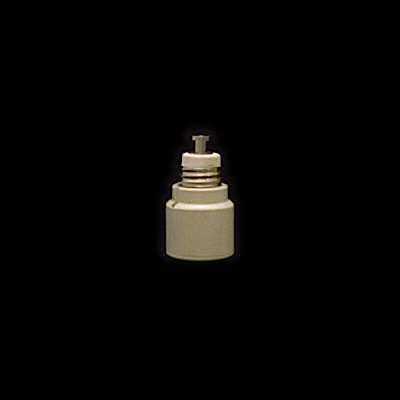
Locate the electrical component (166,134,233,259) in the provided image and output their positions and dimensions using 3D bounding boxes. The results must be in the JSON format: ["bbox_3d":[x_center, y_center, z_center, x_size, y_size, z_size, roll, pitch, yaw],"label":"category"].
[{"bbox_3d":[0.000,0.000,0.643,0.040,0.079,0.040,1,12,0],"label":"electrical component"}]
